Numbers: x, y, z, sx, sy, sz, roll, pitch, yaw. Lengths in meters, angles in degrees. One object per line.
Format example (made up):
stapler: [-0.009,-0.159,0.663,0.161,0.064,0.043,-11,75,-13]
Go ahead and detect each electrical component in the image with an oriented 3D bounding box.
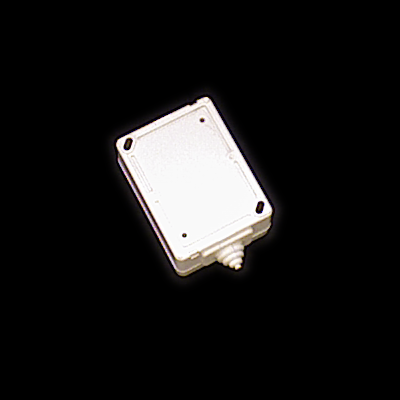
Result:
electrical component: [0.000,0.000,0.627,0.062,0.096,0.060,-27,-14,-8]
